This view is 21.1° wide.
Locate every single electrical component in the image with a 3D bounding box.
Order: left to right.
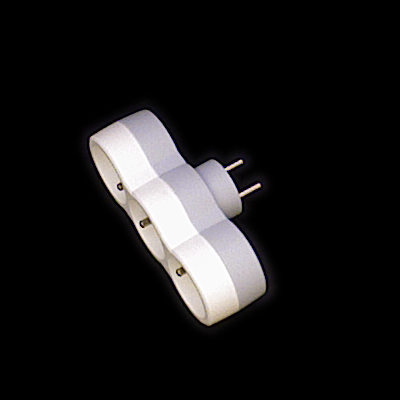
[{"bbox_3d":[0.000,0.000,0.631,0.074,0.138,0.052,-29,-24,-16],"label":"electrical component"}]
